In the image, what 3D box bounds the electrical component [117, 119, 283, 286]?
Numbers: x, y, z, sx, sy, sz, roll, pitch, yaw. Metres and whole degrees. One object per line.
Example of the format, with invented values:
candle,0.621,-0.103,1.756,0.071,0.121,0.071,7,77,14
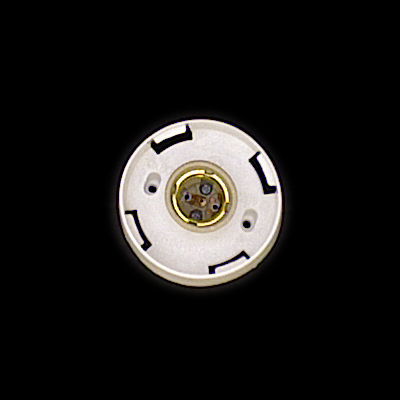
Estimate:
electrical component,0.000,0.000,0.625,0.099,0.099,0.064,0,-7,0
